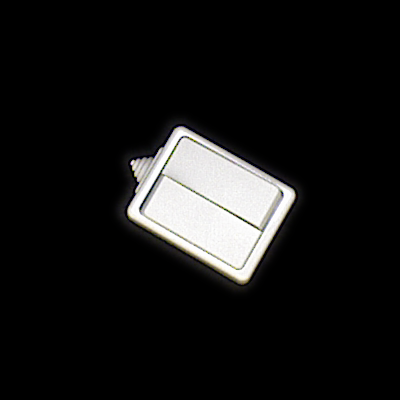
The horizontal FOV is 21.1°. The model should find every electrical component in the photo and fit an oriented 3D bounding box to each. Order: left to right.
[{"bbox_3d":[0.000,0.000,0.627,0.096,0.062,0.061,30,-6,4],"label":"electrical component"}]
